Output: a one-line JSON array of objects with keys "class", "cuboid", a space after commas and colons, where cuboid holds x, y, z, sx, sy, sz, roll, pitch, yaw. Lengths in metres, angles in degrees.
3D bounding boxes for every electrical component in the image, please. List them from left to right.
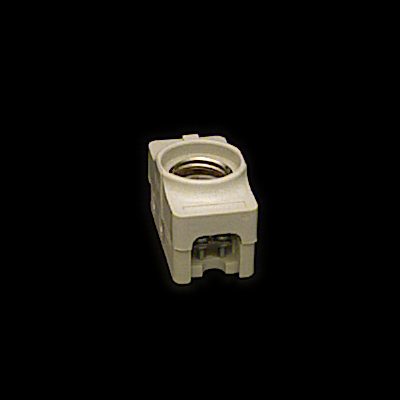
[{"class": "electrical component", "cuboid": [0.000, 0.000, 0.643, 0.050, 0.056, 0.088, -6, 33, -11]}]
